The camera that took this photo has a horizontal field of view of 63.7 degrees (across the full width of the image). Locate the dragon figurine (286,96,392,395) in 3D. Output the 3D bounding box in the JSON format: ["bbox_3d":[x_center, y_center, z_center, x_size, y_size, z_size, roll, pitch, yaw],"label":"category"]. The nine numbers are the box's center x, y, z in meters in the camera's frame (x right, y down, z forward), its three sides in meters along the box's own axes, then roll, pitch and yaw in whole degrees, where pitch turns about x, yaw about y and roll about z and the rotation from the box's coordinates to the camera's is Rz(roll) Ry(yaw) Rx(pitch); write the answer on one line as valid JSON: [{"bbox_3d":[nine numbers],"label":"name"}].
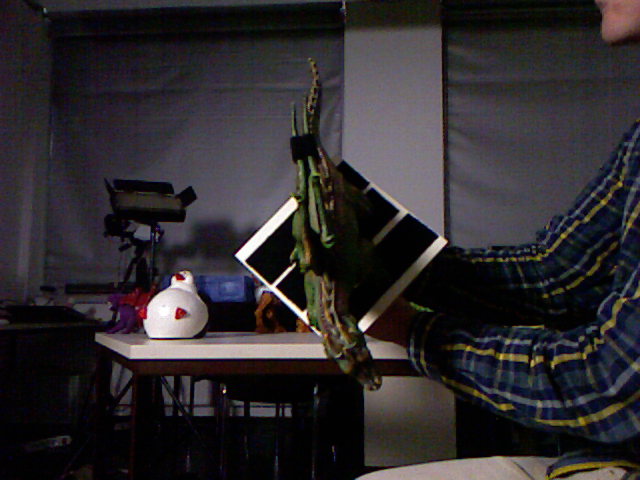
[{"bbox_3d":[0.010,-0.039,0.578,0.122,0.417,0.239,-11,-19,5],"label":"dragon figurine"}]
